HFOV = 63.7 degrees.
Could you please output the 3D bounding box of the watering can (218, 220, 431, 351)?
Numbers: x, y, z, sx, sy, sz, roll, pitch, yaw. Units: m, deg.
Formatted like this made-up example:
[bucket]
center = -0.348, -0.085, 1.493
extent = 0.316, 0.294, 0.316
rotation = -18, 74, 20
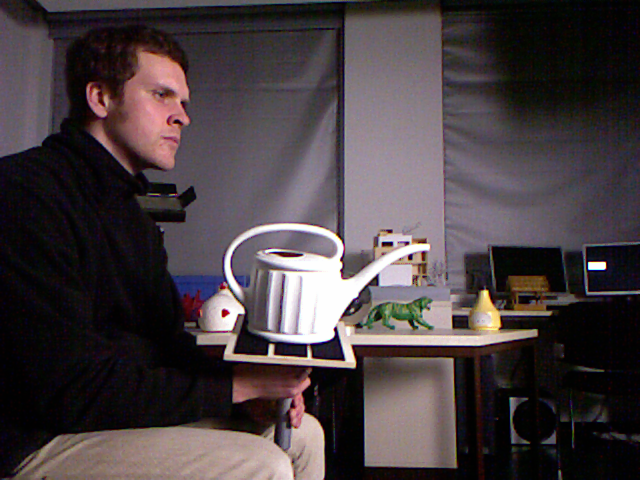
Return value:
[watering can]
center = 0.002, 0.081, 0.859
extent = 0.348, 0.222, 0.105
rotation = 5, 14, -1
